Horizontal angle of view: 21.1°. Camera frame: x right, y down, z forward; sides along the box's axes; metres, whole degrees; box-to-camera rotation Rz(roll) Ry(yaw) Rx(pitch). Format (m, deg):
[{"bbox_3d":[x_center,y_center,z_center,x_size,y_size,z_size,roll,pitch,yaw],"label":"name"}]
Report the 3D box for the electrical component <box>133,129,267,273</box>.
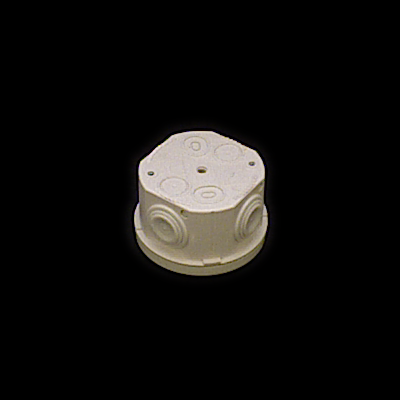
[{"bbox_3d":[0.000,0.000,0.635,0.080,0.051,0.079,1,42,-1],"label":"electrical component"}]
